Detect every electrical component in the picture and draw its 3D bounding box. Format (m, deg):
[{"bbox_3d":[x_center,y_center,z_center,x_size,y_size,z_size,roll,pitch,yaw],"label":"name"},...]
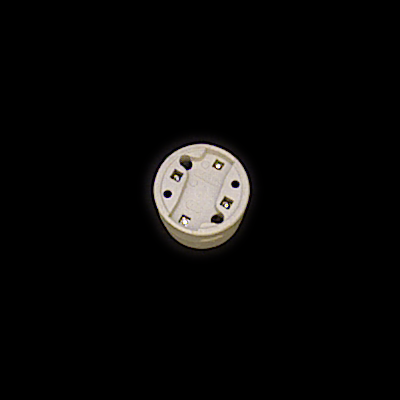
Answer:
[{"bbox_3d":[0.000,0.000,0.635,0.055,0.056,0.047,0,-17,0],"label":"electrical component"}]
